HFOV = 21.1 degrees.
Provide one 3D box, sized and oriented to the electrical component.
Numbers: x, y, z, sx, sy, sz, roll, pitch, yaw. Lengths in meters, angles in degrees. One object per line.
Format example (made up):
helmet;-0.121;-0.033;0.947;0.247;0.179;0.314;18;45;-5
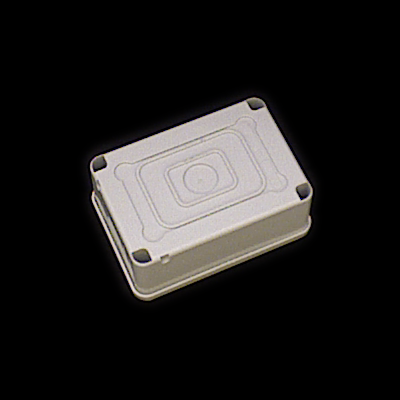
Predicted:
electrical component;0.000;0.000;0.628;0.113;0.078;0.057;-21;-25;-11
